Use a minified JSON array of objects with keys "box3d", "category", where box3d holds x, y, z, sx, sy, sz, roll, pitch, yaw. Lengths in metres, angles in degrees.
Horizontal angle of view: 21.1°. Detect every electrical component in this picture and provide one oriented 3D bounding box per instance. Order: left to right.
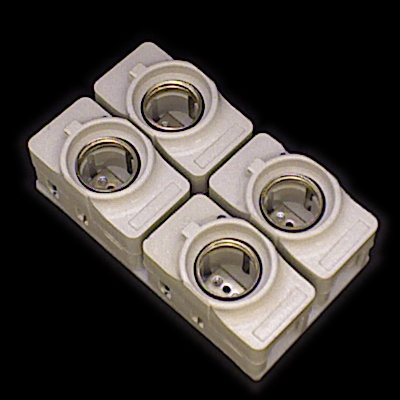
[{"box3d":[0.000,0.000,0.625,0.186,0.106,0.060,40,-21,18],"category":"electrical component"}]
